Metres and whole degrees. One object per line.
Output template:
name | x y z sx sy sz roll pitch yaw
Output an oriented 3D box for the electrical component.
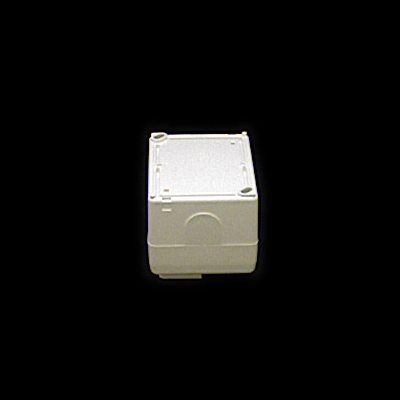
electrical component | 0.000 0.000 0.641 0.062 0.062 0.095 -1 31 -2
